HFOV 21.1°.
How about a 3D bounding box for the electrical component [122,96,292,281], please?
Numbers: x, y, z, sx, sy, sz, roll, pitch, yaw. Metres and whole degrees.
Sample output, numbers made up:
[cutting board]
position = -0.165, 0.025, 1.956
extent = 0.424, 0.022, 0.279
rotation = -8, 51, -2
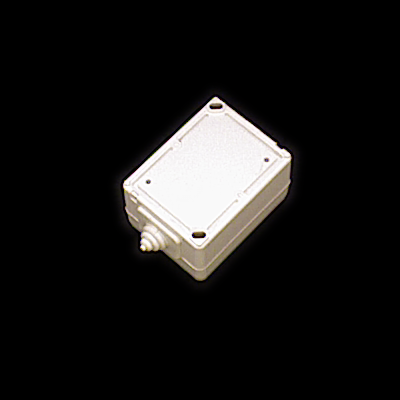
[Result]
[electrical component]
position = 0.000, 0.000, 0.628
extent = 0.061, 0.096, 0.061
rotation = 39, -20, 18
